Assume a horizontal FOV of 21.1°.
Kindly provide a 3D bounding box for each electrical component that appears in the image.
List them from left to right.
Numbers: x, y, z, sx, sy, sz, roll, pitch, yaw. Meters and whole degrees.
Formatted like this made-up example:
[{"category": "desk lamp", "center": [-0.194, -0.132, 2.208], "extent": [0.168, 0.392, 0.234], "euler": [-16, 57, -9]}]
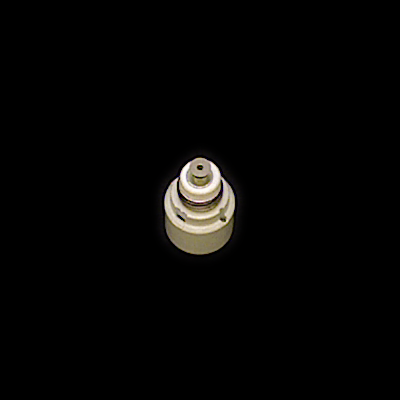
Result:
[{"category": "electrical component", "center": [0.000, 0.000, 0.619], "extent": [0.040, 0.040, 0.078], "euler": [0, -27, -1]}]
